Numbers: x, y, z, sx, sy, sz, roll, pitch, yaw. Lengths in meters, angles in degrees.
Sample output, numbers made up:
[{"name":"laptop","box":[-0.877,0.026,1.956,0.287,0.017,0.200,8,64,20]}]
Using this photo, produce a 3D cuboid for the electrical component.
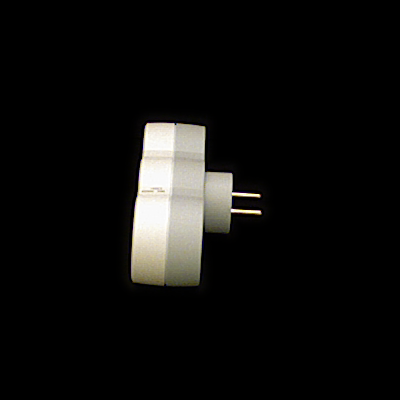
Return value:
[{"name":"electrical component","box":[0.000,0.000,0.642,0.074,0.053,0.136,2,32,-1]}]
